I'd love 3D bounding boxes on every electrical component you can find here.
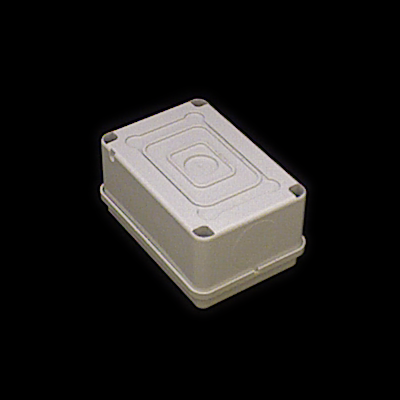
[{"bbox_3d":[0.000,0.000,0.631,0.078,0.057,0.112,-24,48,-25],"label":"electrical component"}]
